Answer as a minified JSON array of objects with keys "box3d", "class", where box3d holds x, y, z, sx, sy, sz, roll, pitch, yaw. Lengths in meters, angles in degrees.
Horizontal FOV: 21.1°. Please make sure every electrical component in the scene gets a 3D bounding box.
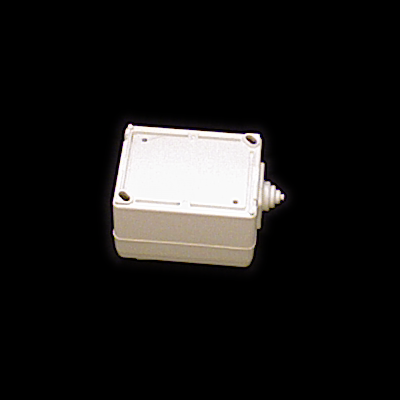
[{"box3d":[0.000,0.000,0.628,0.096,0.061,0.061,5,-38,2],"class":"electrical component"}]
